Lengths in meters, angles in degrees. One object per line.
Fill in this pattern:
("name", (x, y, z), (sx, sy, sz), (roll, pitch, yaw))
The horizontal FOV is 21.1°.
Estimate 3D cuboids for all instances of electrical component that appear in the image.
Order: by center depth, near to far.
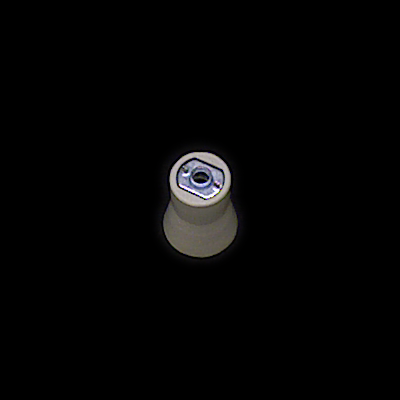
("electrical component", (0.000, 0.000, 0.624), (0.044, 0.044, 0.065), (0, -26, 0))
